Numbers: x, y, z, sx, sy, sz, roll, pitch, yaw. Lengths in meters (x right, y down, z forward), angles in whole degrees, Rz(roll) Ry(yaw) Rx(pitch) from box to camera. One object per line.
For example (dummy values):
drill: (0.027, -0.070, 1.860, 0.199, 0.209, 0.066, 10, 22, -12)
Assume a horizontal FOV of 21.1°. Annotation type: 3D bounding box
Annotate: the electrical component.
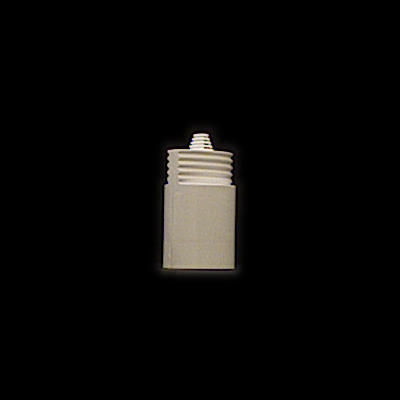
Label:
electrical component: (0.000, 0.000, 0.650, 0.043, 0.081, 0.043, 1, 1, 0)
